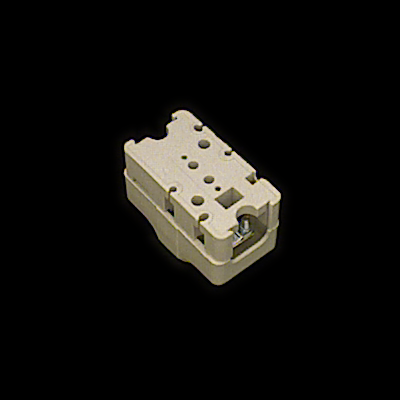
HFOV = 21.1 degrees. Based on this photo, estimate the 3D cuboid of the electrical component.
[{"bbox_3d":[0.000,0.000,0.637,0.050,0.089,0.056,-34,-29,-23],"label":"electrical component"}]
